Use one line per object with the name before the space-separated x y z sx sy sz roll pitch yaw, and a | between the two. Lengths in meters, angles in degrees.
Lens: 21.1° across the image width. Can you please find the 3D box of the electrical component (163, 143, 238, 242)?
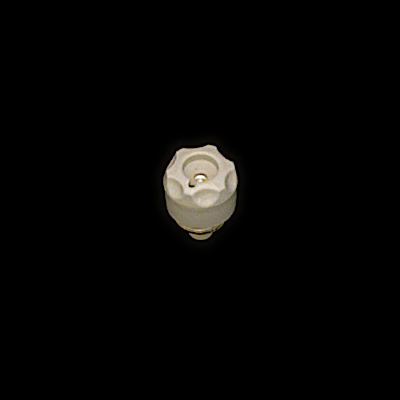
electrical component | 0.000 0.000 0.636 0.043 0.043 0.062 0 -38 0
